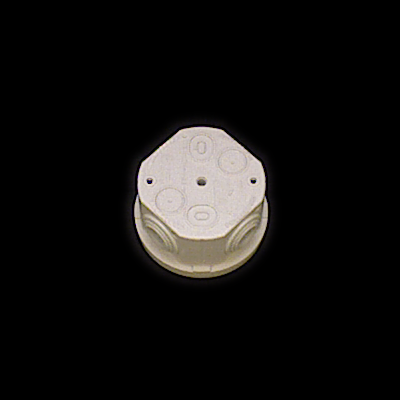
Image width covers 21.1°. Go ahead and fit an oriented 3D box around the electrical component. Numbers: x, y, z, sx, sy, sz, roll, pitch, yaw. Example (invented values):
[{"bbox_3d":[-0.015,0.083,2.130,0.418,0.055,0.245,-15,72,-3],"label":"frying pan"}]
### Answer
[{"bbox_3d":[0.000,0.000,0.632,0.080,0.080,0.050,0,-27,-1],"label":"electrical component"}]
